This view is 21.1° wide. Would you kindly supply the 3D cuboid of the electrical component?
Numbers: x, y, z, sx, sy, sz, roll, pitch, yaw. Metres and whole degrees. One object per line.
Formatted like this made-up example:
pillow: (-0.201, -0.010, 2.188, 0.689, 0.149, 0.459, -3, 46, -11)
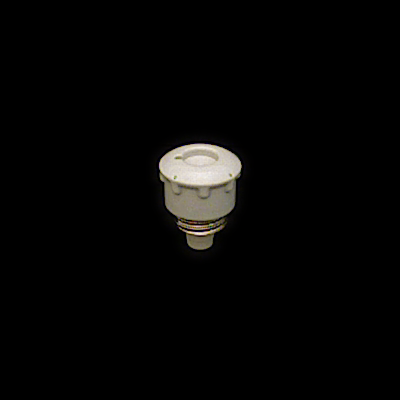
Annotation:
electrical component: (0.000, 0.000, 0.639, 0.048, 0.063, 0.047, 1, 32, 0)
